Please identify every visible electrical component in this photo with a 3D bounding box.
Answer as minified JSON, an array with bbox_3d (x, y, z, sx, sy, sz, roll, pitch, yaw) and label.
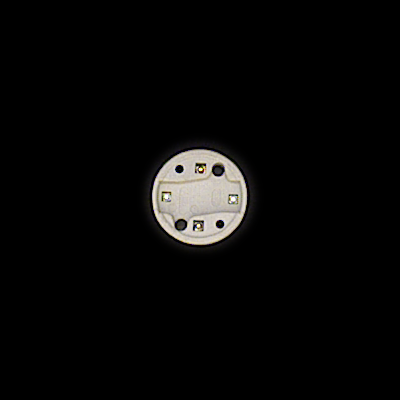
[{"bbox_3d":[0.000,0.000,0.636,0.055,0.056,0.047,0,-7,0],"label":"electrical component"}]
